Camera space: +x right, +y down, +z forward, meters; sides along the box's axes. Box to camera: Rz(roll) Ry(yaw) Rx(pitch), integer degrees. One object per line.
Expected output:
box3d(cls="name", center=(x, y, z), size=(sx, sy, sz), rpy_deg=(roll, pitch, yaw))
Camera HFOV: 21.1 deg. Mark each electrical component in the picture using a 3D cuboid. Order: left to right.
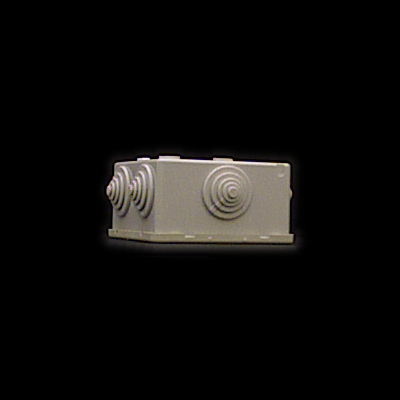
box3d(cls="electrical component", center=(0.000, 0.000, 0.649), size=(0.100, 0.048, 0.099), rpy_deg=(1, 0, -23))
